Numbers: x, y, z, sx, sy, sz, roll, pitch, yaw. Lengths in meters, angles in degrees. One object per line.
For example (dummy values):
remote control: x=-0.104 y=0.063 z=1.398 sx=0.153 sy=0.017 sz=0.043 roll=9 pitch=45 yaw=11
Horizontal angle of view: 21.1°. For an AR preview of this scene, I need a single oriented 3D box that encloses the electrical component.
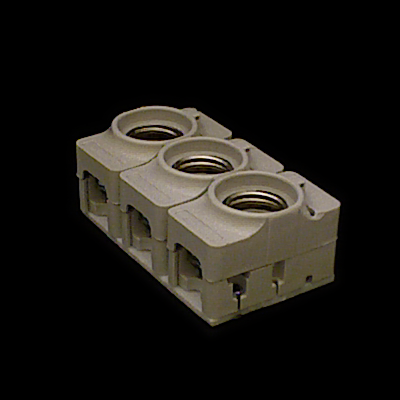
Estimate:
electrical component: x=0.000 y=0.000 z=0.641 sx=0.089 sy=0.063 sz=0.147 roll=-19 pitch=37 yaw=-30
